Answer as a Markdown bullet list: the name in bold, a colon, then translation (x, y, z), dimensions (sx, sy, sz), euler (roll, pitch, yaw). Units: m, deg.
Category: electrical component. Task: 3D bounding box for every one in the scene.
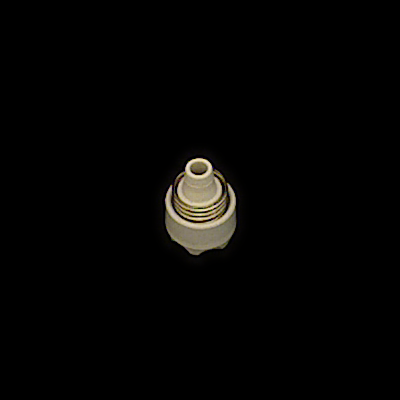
- **electrical component**: translation (0.000, 0.000, 0.636), dimensions (0.043, 0.043, 0.062), euler (0, -38, 1)
